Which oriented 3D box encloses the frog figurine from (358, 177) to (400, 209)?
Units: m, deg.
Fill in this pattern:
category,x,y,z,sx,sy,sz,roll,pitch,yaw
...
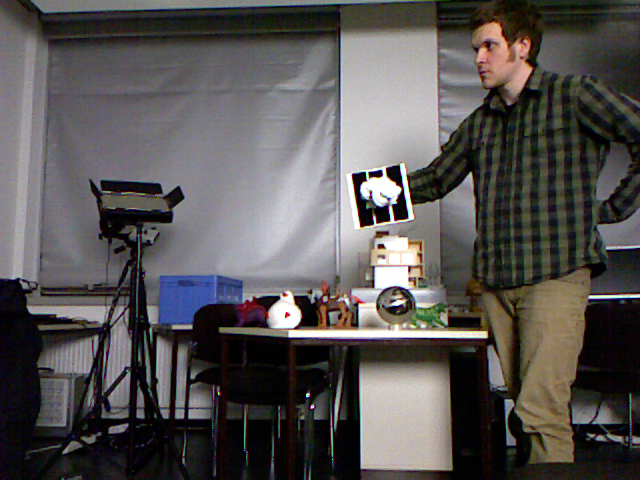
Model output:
category,x,y,z,sx,sy,sz,roll,pitch,yaw
frog figurine,0.200,-0.167,1.732,0.137,0.124,0.158,12,-12,5
